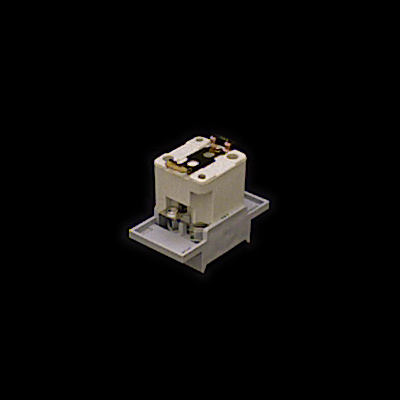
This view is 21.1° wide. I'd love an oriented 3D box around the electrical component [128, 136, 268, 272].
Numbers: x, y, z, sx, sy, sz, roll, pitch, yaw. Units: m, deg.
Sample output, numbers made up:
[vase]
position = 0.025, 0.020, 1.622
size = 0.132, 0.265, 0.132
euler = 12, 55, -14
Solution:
[electrical component]
position = 0.000, 0.000, 0.633
size = 0.042, 0.064, 0.080
euler = 24, 38, 33
